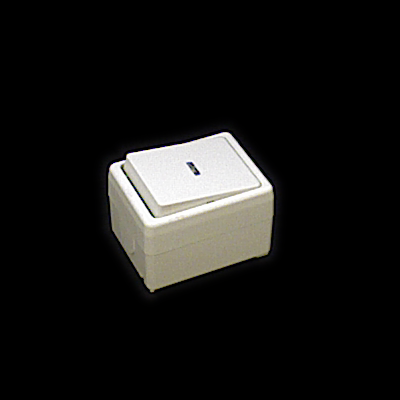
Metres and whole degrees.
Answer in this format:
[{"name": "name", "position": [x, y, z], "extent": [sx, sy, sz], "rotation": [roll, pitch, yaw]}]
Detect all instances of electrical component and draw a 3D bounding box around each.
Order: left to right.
[{"name": "electrical component", "position": [0.000, 0.000, 0.631], "extent": [0.096, 0.061, 0.061], "rotation": [-17, 45, -19]}]
